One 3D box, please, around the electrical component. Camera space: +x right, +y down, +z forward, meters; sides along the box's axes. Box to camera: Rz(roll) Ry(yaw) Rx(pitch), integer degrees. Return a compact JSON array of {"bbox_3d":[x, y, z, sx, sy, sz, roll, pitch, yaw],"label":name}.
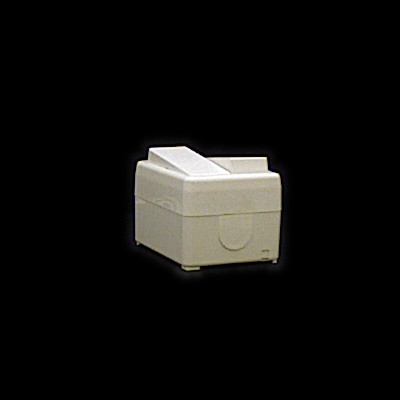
[{"bbox_3d":[0.000,0.000,0.647,0.062,0.061,0.095,-4,11,-24],"label":"electrical component"}]
